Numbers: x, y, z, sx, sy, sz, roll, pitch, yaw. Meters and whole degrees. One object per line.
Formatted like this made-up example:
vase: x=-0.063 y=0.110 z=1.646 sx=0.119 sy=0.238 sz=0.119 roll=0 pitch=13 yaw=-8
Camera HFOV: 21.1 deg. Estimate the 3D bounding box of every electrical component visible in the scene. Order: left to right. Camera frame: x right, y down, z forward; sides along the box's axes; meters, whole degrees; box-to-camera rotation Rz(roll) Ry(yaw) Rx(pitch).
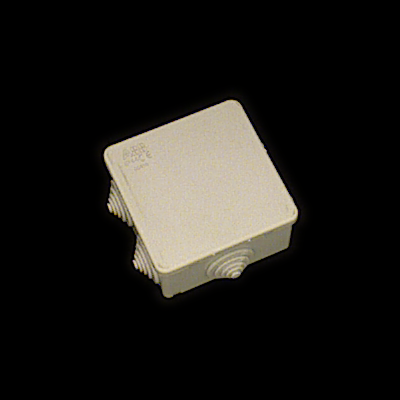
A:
electrical component: x=0.000 y=0.000 z=0.639 sx=0.100 sy=0.099 sz=0.048 roll=-22 pitch=-24 yaw=-11
